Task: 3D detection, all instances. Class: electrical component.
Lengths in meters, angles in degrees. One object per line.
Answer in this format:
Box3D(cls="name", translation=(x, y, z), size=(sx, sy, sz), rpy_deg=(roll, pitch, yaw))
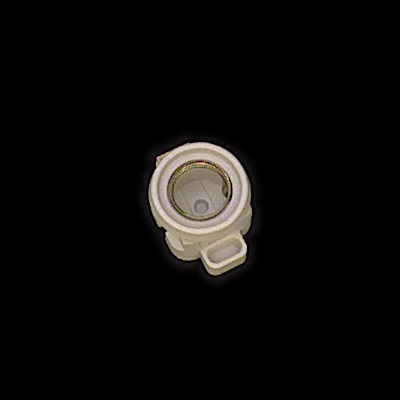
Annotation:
Box3D(cls="electrical component", translation=(0.000, 0.000, 0.629), size=(0.058, 0.078, 0.056), rpy_deg=(-26, -15, -7))
